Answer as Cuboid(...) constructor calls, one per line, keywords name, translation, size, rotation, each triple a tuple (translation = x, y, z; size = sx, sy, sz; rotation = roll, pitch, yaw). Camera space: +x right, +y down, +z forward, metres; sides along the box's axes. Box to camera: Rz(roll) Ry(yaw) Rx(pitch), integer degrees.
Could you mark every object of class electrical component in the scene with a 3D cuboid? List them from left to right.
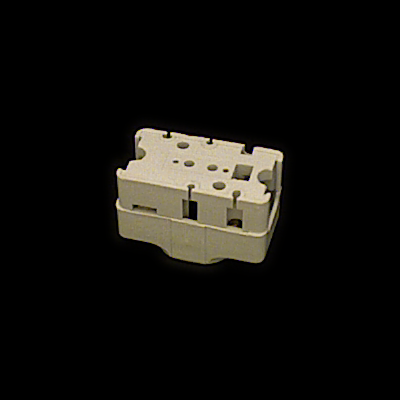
Cuboid(name="electrical component", translation=(0.000, 0.000, 0.640), size=(0.089, 0.056, 0.050), rotation=(11, 43, 10))
